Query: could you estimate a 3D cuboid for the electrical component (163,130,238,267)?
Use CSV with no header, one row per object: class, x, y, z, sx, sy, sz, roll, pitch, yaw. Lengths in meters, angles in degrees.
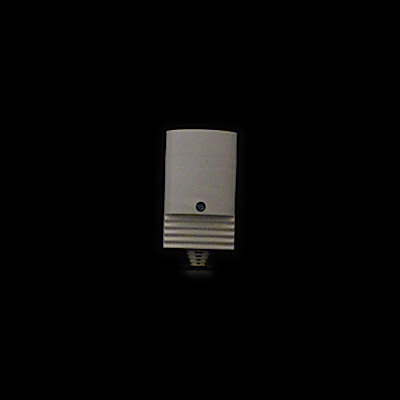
electrical component,0.000,0.000,0.652,0.043,0.081,0.043,2,2,0
